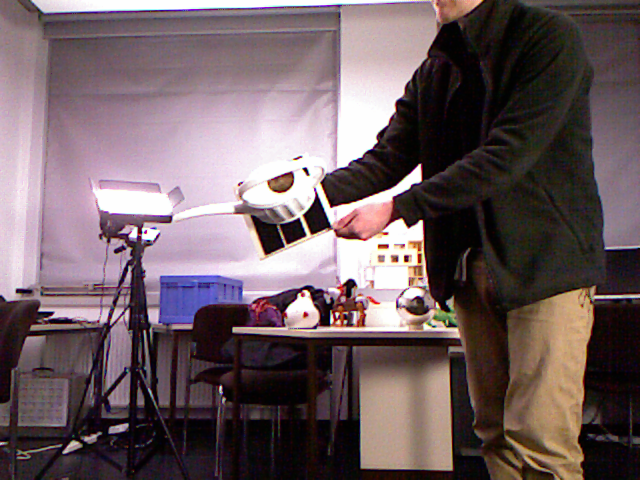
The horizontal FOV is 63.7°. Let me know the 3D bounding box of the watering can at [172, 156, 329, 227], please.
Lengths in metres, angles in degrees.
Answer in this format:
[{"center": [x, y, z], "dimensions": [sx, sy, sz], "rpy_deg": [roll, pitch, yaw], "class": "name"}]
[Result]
[{"center": [-0.137, -0.093, 1.155], "dimensions": [0.348, 0.106, 0.222], "rpy_deg": [-23, -18, 3], "class": "watering can"}]
